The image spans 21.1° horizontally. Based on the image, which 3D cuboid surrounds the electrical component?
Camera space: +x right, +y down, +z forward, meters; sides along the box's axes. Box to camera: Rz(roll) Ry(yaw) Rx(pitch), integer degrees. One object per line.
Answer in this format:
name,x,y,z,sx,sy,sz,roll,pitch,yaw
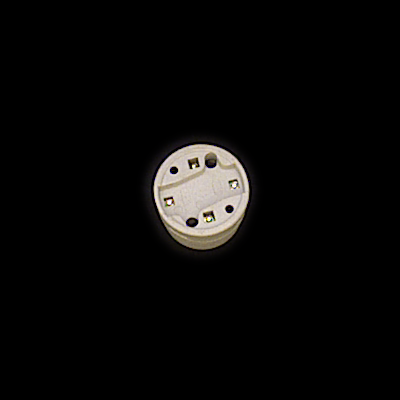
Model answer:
electrical component,0.000,0.000,0.634,0.055,0.056,0.047,0,-17,0
